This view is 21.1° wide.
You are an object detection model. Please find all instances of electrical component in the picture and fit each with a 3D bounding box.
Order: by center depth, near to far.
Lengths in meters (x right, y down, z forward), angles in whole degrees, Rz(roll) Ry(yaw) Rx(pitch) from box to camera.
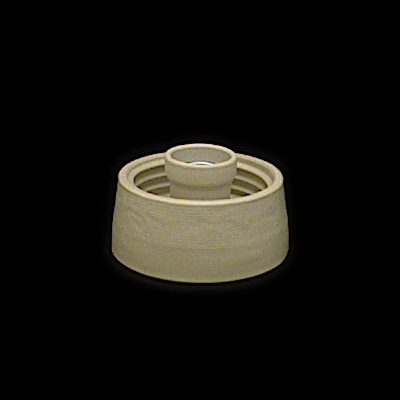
[{"bbox_3d":[0.000,0.000,0.645,0.108,0.061,0.106,1,22,0],"label":"electrical component"}]
